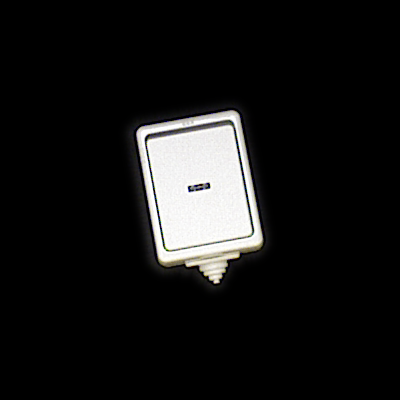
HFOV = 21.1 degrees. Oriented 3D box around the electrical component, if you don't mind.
[{"bbox_3d":[0.000,0.000,0.626,0.062,0.096,0.061,-10,-7,-1],"label":"electrical component"}]
